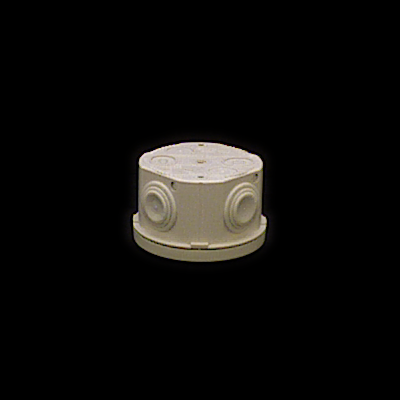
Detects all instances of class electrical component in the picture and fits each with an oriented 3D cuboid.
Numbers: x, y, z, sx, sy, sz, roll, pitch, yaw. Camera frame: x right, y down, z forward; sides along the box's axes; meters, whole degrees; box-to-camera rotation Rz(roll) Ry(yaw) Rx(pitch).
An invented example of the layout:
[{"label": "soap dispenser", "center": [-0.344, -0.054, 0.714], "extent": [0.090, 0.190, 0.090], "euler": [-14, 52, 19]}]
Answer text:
[{"label": "electrical component", "center": [0.000, 0.000, 0.640], "extent": [0.080, 0.051, 0.079], "euler": [1, 22, 0]}]
